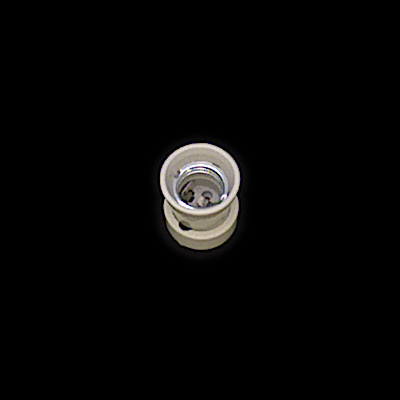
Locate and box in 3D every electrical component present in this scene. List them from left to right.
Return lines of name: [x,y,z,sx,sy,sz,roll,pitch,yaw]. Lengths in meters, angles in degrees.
electrical component: [0.000,0.000,0.628,0.045,0.045,0.055,0,-28,0]
